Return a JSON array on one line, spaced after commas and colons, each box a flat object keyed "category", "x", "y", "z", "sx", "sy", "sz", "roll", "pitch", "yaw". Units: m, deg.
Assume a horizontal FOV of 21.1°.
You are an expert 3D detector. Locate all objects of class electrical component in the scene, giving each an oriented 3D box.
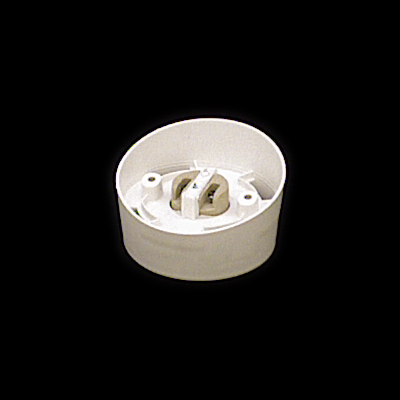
[{"category": "electrical component", "x": 0.000, "y": 0.000, "z": 0.634, "sx": 0.099, "sy": 0.065, "sz": 0.097, "roll": 1, "pitch": 30, "yaw": 0}]
